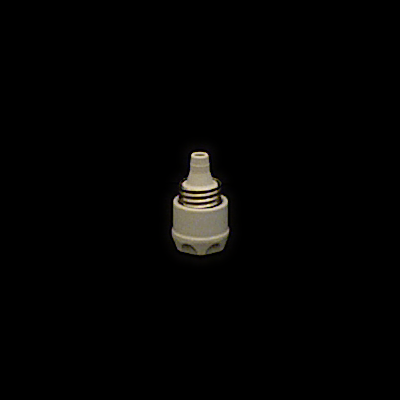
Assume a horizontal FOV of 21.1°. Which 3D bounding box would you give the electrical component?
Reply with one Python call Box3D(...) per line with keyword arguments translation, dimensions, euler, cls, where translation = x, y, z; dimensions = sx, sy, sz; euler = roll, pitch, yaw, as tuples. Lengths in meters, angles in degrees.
Box3D(translation=(0.000, 0.000, 0.650), dimensions=(0.035, 0.062, 0.034), euler=(-1, 22, 1), cls="electrical component")
